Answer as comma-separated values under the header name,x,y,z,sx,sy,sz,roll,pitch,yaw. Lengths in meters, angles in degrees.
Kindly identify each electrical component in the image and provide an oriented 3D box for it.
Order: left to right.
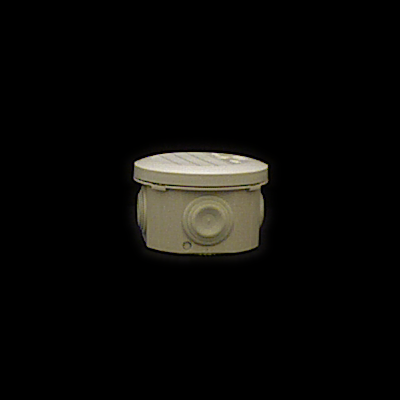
name,x,y,z,sx,sy,sz,roll,pitch,yaw
electrical component,0.000,0.000,0.642,0.080,0.051,0.079,1,10,0
